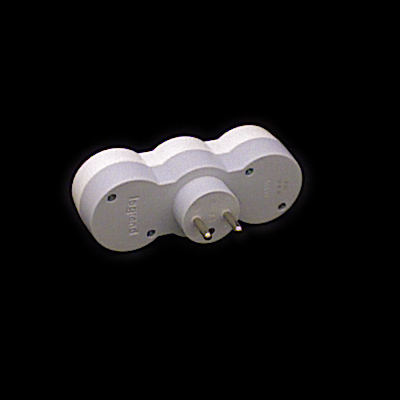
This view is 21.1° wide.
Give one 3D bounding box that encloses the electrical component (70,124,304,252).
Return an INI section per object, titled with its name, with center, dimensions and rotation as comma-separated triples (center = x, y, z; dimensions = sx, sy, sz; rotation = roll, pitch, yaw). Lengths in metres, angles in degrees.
[electrical component]
center = 0.000, 0.000, 0.638
dimensions = 0.138, 0.053, 0.073
rotation = -11, 36, -20
